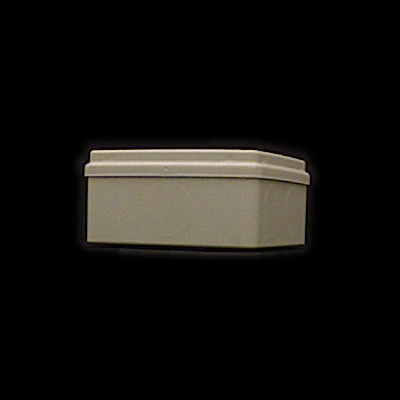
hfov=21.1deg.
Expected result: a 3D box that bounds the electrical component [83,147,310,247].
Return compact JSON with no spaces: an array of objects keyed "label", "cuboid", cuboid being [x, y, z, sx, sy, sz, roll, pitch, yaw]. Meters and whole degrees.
[{"label":"electrical component","cuboid":[0.000,0.000,0.652,0.108,0.056,0.109,1,0,21]}]
